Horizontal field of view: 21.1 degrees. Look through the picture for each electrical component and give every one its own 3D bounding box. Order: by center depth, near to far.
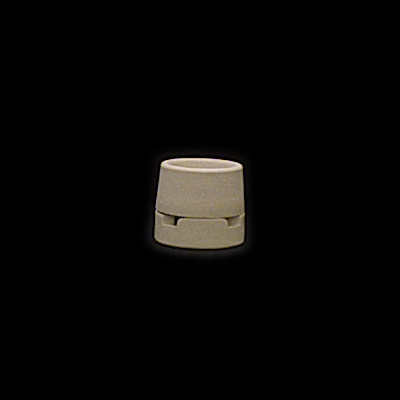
[{"bbox_3d":[0.000,0.000,0.646,0.055,0.047,0.055,2,11,0],"label":"electrical component"}]
